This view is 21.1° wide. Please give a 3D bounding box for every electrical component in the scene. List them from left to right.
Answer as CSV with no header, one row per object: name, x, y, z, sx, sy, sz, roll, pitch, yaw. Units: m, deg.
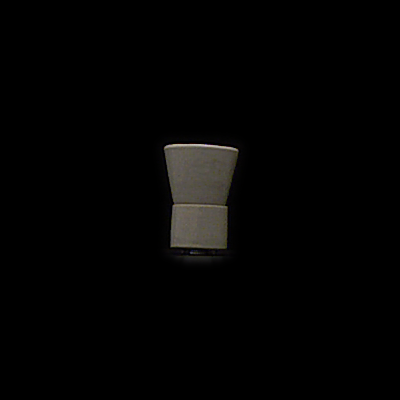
electrical component,0.000,0.000,0.652,0.044,0.065,0.044,1,0,0
